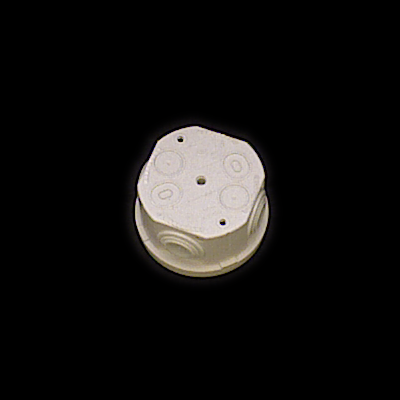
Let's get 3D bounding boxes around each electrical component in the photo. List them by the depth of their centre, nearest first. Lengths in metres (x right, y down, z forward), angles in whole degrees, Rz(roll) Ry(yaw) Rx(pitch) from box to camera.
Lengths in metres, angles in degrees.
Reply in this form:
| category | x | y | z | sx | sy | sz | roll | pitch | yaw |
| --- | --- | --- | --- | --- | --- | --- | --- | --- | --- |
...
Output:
| category | x | y | z | sx | sy | sz | roll | pitch | yaw |
| --- | --- | --- | --- | --- | --- | --- | --- | --- | --- |
| electrical component | 0.000 | 0.000 | 0.632 | 0.080 | 0.080 | 0.050 | 0 | -28 | 0 |
